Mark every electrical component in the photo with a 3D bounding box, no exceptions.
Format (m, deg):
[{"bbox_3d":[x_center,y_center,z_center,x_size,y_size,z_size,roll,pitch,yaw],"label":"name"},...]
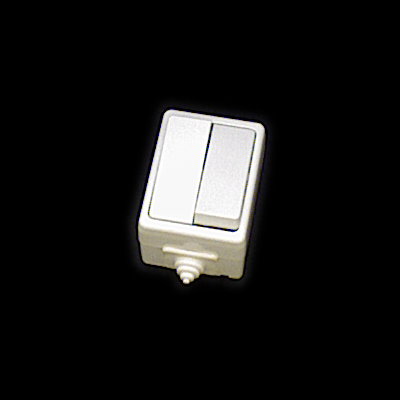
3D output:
[{"bbox_3d":[0.000,0.000,0.625,0.062,0.097,0.060,9,-27,5],"label":"electrical component"}]
